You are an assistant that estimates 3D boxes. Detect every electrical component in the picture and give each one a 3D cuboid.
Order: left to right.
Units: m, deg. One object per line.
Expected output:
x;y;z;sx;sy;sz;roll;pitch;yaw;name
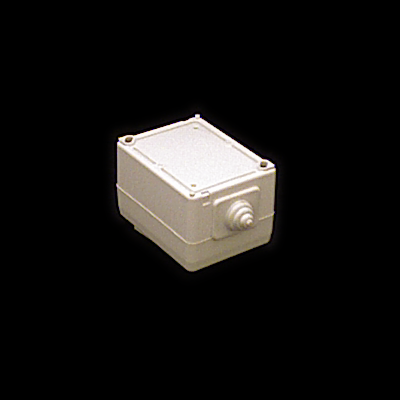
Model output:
0.000;0.000;0.632;0.062;0.061;0.095;-20;38;-30;electrical component
